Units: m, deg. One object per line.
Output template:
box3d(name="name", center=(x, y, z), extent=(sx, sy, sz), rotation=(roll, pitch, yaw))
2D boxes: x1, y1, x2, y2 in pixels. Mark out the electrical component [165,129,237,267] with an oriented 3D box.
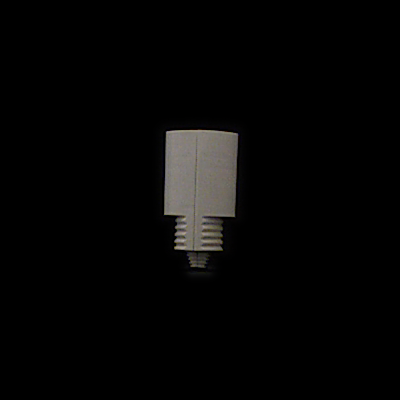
box3d(name="electrical component", center=(0.000, 0.000, 0.648), extent=(0.043, 0.081, 0.043), rotation=(0, 2, 0))
